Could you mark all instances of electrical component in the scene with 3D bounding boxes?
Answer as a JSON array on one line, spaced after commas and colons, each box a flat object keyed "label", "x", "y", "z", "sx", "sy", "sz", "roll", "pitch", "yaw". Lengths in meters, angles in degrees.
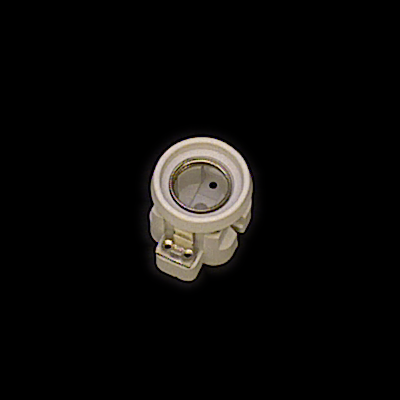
[{"label": "electrical component", "x": 0.000, "y": 0.000, "z": 0.627, "sx": 0.058, "sy": 0.079, "sz": 0.056, "roll": 23, "pitch": -25, "yaw": 11}]
